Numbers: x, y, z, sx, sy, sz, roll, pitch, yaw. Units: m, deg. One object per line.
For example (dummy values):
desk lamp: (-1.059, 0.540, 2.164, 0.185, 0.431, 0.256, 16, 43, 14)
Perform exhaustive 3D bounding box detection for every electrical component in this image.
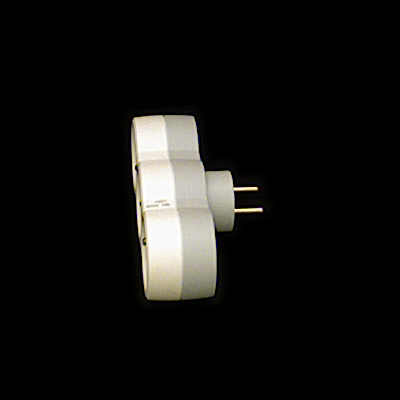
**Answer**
electrical component: (0.000, 0.000, 0.640, 0.074, 0.052, 0.137, -3, 43, -6)
